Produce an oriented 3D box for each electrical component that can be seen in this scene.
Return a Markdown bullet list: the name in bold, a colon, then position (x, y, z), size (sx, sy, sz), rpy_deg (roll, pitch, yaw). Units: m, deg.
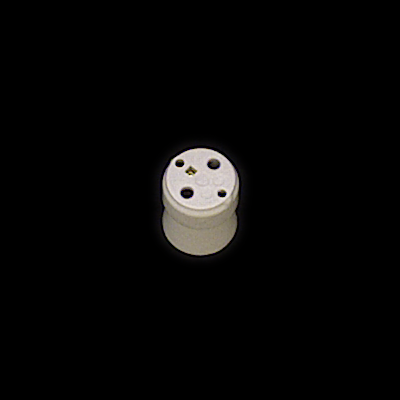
- **electrical component**: position (0.000, 0.000, 0.629), size (0.045, 0.045, 0.055), rpy_deg (0, -27, -1)
